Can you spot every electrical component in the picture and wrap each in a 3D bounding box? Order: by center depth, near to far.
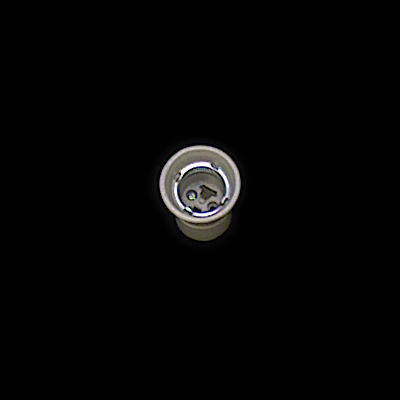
[{"bbox_3d":[0.000,0.000,0.624,0.044,0.044,0.065,0,-17,2],"label":"electrical component"}]
